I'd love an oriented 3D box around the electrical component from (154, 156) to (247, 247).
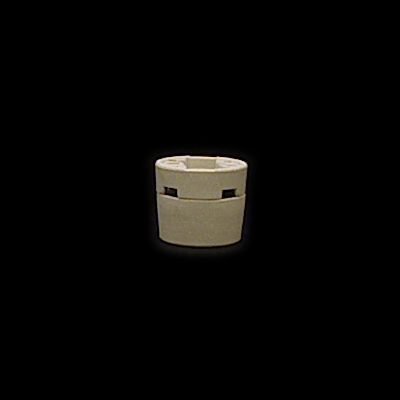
[{"bbox_3d":[0.000,0.000,0.645,0.055,0.047,0.055,1,11,0],"label":"electrical component"}]
